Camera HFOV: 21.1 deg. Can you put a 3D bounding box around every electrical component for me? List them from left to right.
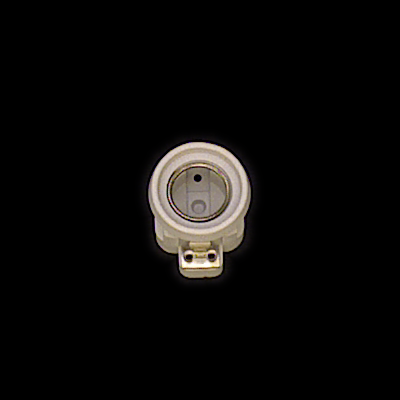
[{"bbox_3d":[0.000,0.000,0.628,0.058,0.079,0.056,-2,-17,-1],"label":"electrical component"}]
